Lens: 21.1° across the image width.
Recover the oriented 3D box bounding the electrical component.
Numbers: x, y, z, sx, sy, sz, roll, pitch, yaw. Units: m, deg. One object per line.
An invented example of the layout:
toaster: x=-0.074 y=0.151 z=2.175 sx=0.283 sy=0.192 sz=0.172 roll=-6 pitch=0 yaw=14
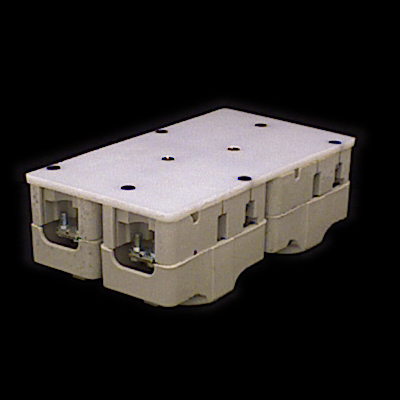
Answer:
electrical component: x=0.000 y=0.000 z=0.638 sx=0.105 sy=0.061 sz=0.185 roll=16 pitch=25 yaw=35
